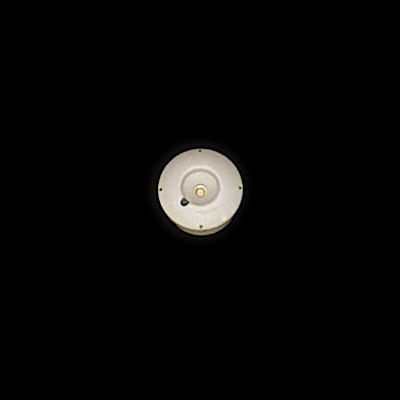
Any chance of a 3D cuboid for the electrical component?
[{"bbox_3d":[0.000,0.000,0.632,0.048,0.048,0.061,0,-16,1],"label":"electrical component"}]
